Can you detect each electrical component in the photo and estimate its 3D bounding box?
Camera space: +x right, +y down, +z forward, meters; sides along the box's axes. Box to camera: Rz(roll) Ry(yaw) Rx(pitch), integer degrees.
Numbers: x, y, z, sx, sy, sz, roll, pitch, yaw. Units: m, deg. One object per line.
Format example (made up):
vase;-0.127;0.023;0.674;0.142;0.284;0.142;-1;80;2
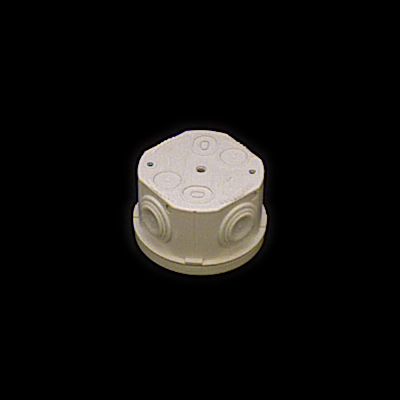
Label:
electrical component;0.000;0.000;0.634;0.080;0.051;0.080;1;42;-1
